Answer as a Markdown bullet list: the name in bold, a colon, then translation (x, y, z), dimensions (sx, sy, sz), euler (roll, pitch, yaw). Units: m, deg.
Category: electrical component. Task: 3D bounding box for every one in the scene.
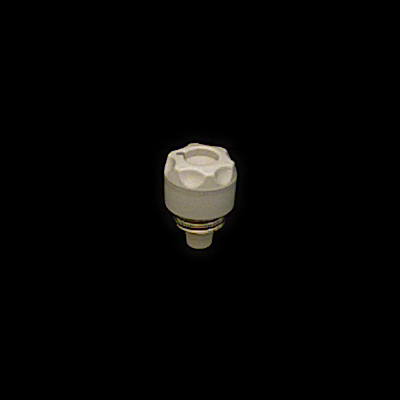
- **electrical component**: translation (0.000, 0.000, 0.642), dimensions (0.043, 0.063, 0.043), euler (2, 32, 0)
